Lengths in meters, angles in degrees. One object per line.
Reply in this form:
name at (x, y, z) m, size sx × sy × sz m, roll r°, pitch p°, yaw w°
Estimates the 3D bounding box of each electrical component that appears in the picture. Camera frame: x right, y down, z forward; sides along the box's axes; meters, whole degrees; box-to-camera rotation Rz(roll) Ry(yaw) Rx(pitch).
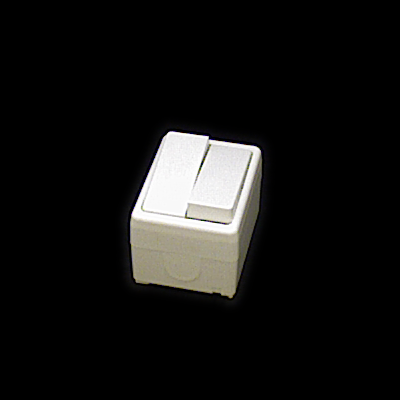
electrical component at (0.000, 0.000, 0.633) m, size 0.061 × 0.061 × 0.095 m, roll 9°, pitch 43°, yaw 9°
